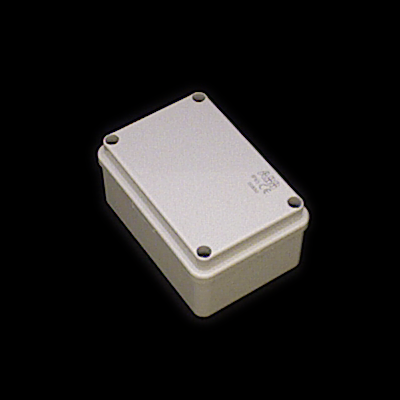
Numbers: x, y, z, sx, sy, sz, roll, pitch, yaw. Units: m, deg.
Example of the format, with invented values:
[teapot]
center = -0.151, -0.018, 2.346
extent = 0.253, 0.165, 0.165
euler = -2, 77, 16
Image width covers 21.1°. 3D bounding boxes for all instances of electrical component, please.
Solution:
[electrical component]
center = 0.000, 0.000, 0.629
extent = 0.078, 0.112, 0.057
euler = -28, -32, -20
